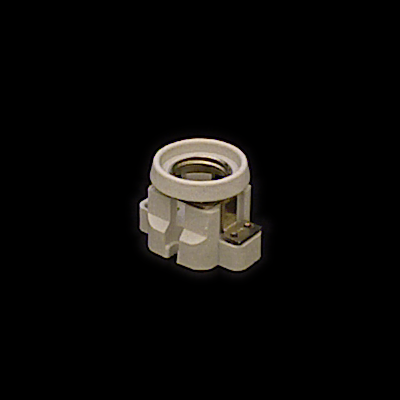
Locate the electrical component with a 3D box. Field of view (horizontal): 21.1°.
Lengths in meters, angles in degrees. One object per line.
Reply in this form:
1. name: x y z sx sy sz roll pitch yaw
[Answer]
1. electrical component: 0.000 0.000 0.635 0.078 0.057 0.057 22 37 31
